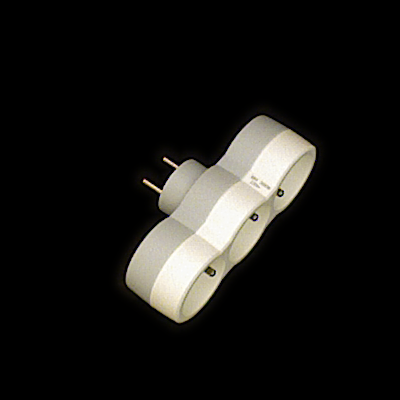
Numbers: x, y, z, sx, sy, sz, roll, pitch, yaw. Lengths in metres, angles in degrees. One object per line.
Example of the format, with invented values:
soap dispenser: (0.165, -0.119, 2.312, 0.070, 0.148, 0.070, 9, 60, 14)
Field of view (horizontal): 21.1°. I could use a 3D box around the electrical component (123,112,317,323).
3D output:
electrical component: (0.000, 0.000, 0.639, 0.073, 0.139, 0.052, 35, -22, 17)
